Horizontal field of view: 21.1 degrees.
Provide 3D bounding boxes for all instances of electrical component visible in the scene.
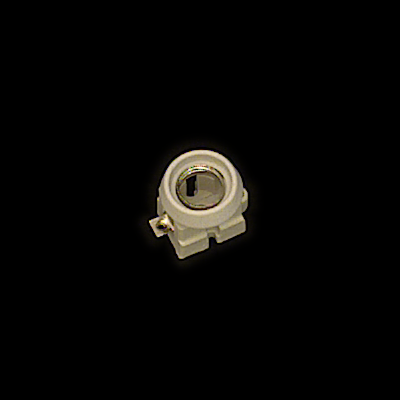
[{"bbox_3d":[0.000,0.000,0.636,0.067,0.048,0.055,-24,-26,-12],"label":"electrical component"}]
